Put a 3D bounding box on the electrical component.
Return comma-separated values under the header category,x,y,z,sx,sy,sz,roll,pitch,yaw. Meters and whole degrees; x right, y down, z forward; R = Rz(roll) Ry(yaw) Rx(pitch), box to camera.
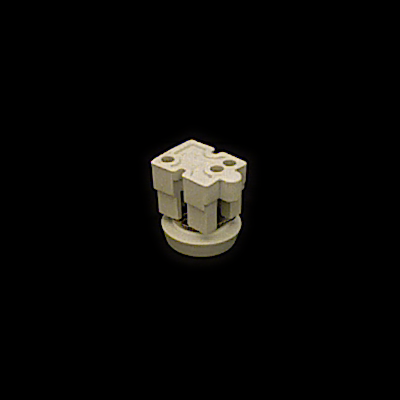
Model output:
category,x,y,z,sx,sy,sz,roll,pitch,yaw
electrical component,0.000,0.000,0.643,0.065,0.056,0.048,25,41,34
